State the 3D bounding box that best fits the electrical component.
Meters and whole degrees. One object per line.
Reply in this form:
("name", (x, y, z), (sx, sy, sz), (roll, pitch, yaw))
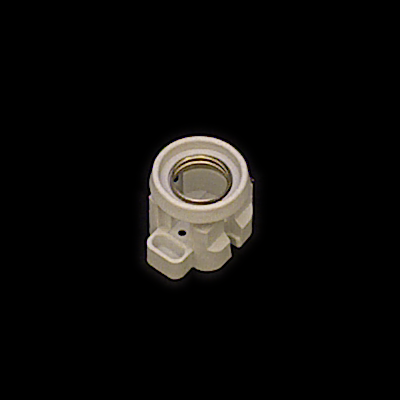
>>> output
("electrical component", (0.000, 0.000, 0.630), (0.057, 0.078, 0.057), (32, -31, 22))
